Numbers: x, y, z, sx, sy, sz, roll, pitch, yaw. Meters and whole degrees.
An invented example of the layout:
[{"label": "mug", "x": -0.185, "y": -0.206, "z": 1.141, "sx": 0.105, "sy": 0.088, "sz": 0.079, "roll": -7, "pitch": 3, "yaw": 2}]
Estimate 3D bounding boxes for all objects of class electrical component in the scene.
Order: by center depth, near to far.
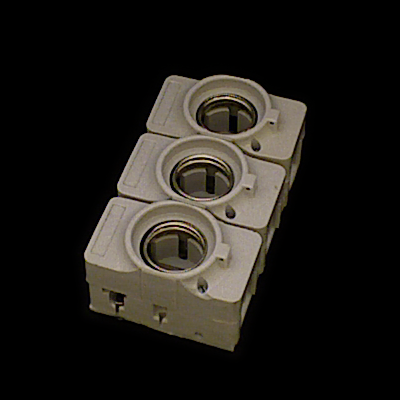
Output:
[{"label": "electrical component", "x": 0.000, "y": 0.000, "z": 0.634, "sx": 0.089, "sy": 0.148, "sz": 0.062, "roll": 14, "pitch": -36, "yaw": 10}]
